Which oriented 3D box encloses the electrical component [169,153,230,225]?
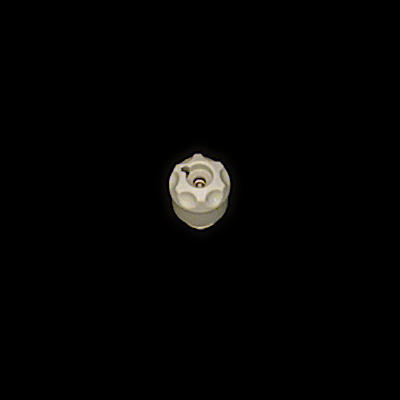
[{"bbox_3d":[0.000,0.000,0.634,0.035,0.035,0.061,0,-27,0],"label":"electrical component"}]
